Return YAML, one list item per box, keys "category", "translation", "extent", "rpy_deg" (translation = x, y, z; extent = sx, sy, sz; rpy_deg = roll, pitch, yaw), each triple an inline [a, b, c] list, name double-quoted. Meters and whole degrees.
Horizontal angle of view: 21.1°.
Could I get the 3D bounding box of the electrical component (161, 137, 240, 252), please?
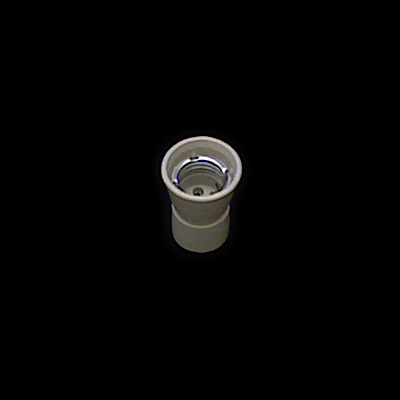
- category: "electrical component"
  translation: [0.000, 0.000, 0.625]
  extent: [0.044, 0.044, 0.065]
  rpy_deg: [0, -37, -1]
